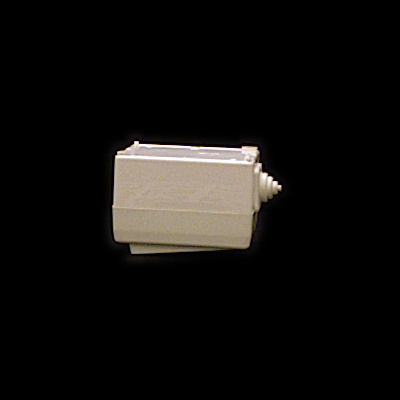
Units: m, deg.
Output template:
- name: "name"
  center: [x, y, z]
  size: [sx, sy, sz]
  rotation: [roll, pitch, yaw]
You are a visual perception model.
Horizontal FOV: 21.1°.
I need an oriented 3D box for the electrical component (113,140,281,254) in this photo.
- name: "electrical component"
  center: [0.000, 0.000, 0.642]
  size: [0.096, 0.061, 0.061]
  rotation: [3, 11, 6]
